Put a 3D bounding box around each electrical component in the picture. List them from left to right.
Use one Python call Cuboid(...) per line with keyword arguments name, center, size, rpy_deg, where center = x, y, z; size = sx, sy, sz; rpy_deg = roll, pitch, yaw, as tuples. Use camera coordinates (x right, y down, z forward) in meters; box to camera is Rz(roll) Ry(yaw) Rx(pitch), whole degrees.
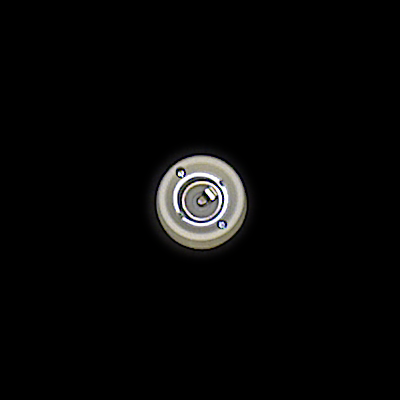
Cuboid(name="electrical component", center=(0.000, 0.000, 0.633), size=(0.055, 0.055, 0.047), rpy_deg=(0, -6, 0))
